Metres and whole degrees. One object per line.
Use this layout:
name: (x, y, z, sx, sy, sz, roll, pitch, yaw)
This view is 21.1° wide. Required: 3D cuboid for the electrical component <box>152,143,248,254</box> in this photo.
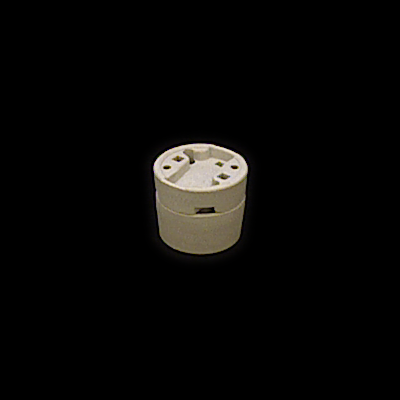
electrical component: (0.000, 0.000, 0.637, 0.055, 0.047, 0.055, 1, 31, 0)
